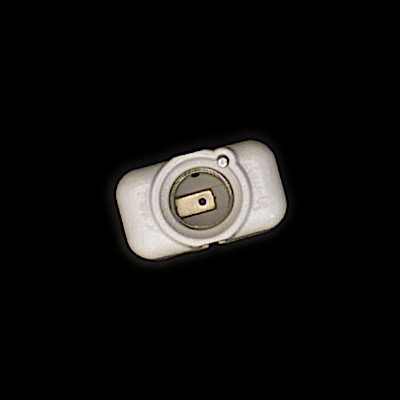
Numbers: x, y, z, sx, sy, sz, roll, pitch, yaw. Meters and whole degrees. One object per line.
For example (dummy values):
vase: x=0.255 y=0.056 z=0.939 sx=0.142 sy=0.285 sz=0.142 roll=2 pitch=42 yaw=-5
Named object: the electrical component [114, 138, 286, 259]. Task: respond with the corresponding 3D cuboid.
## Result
electrical component: x=0.000 y=0.000 z=0.635 sx=0.095 sy=0.054 sz=0.059 roll=-15 pitch=-5 yaw=-1
